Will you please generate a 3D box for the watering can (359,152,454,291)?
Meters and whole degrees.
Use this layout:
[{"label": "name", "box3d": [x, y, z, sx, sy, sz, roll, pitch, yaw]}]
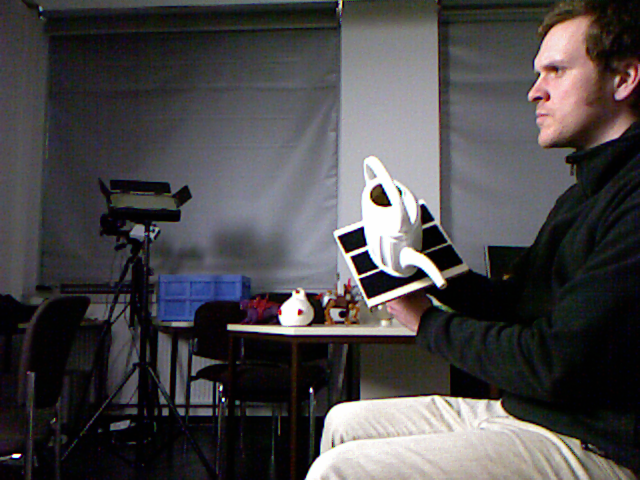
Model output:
[{"label": "watering can", "box3d": [0.144, -0.005, 0.935, 0.104, 0.357, 0.220, -19, -38, -4]}]
